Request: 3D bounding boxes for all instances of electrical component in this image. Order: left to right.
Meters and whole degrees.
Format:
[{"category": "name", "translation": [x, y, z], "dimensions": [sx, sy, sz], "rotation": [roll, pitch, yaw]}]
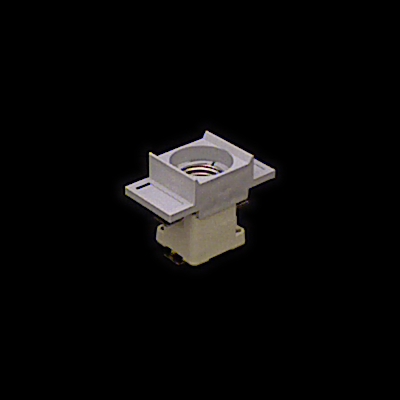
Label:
[{"category": "electrical component", "translation": [0.000, 0.000, 0.635], "dimensions": [0.080, 0.064, 0.042], "rotation": [-23, 38, -33]}]
